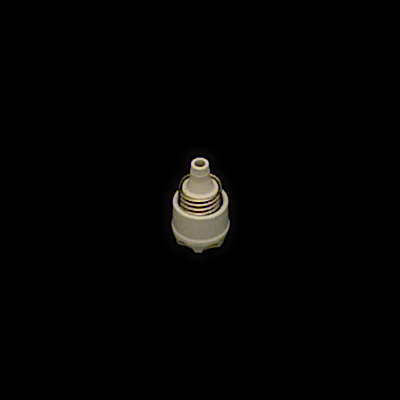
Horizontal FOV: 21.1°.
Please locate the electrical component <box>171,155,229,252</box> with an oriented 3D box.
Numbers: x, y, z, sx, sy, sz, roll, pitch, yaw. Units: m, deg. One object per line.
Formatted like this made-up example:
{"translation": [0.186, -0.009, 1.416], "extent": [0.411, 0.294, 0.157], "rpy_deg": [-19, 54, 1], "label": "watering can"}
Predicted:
{"translation": [0.000, 0.000, 0.643], "extent": [0.035, 0.062, 0.035], "rpy_deg": [0, 44, 1], "label": "electrical component"}
